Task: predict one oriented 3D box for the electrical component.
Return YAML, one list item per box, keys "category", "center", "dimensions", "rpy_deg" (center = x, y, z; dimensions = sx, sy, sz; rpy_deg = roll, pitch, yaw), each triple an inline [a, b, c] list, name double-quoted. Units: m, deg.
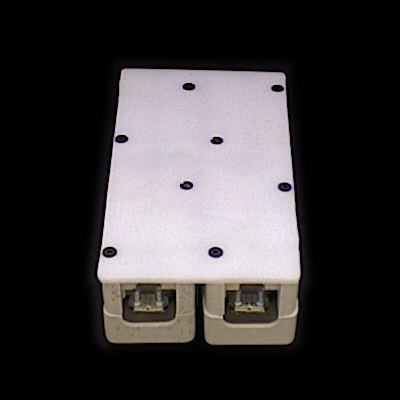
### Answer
- category: "electrical component"
  center: [0.000, 0.000, 0.629]
  dimensions: [0.105, 0.061, 0.184]
  rpy_deg: [1, 42, 0]
